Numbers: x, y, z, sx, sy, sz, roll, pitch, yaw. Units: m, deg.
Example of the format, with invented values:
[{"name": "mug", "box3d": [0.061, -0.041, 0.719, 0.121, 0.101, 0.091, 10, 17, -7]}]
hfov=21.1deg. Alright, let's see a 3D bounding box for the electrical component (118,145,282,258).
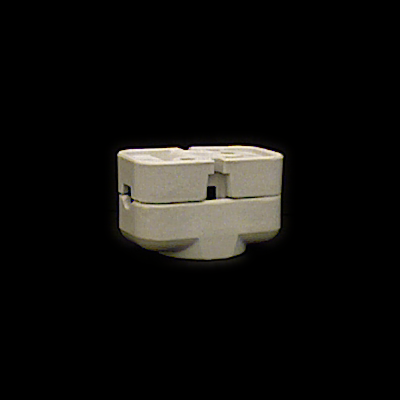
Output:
[{"name": "electrical component", "box3d": [0.000, 0.000, 0.652, 0.096, 0.060, 0.053, -4, 13, -24]}]
